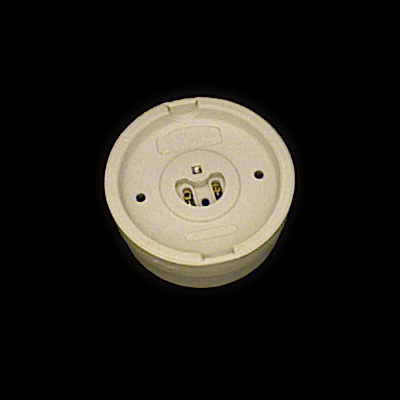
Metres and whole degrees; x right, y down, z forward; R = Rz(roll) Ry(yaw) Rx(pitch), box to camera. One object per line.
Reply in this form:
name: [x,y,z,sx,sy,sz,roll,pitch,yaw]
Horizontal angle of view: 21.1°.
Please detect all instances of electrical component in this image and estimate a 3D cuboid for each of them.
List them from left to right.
electrical component: [0.000,0.000,0.635,0.108,0.108,0.060,0,-26,0]
